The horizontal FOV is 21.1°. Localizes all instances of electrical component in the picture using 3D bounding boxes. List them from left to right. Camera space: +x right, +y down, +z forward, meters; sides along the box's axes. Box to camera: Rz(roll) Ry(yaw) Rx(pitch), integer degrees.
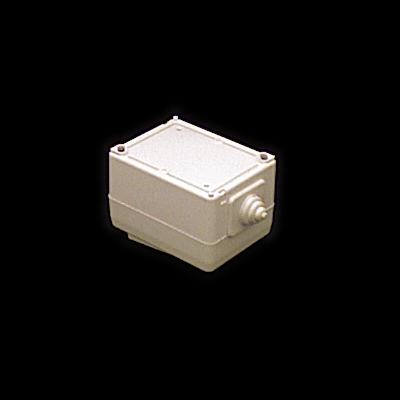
[{"bbox_3d":[0.000,0.000,0.632,0.095,0.061,0.061,25,39,32],"label":"electrical component"}]
